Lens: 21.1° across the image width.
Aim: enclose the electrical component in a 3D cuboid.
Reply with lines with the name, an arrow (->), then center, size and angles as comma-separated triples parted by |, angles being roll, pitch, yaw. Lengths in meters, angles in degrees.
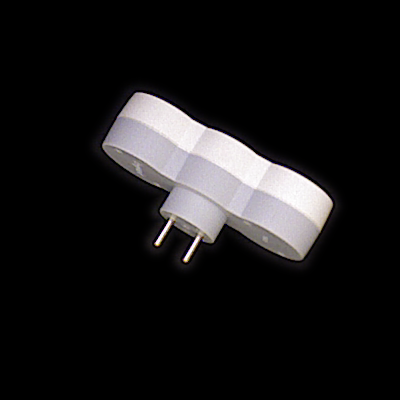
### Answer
electrical component -> 0.000, 0.000, 0.630 | 0.138, 0.074, 0.052 | 29, -13, 8
